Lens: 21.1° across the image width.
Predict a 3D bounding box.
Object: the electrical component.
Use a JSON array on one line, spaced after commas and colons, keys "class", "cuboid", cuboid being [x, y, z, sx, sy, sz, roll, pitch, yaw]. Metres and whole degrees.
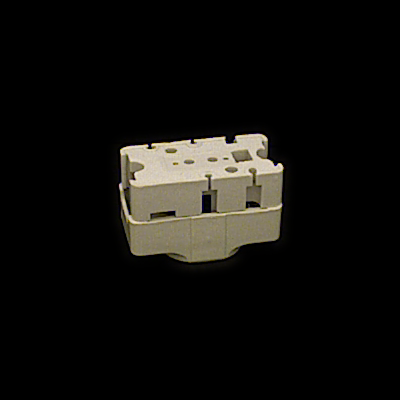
[{"class": "electrical component", "cuboid": [0.000, 0.000, 0.643, 0.090, 0.056, 0.049, -6, 32, -12]}]
